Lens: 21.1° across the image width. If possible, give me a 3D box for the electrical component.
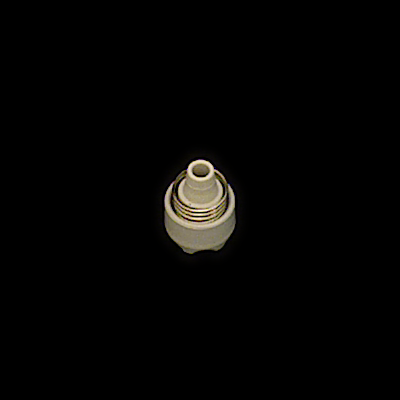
[{"bbox_3d":[0.000,0.000,0.635,0.043,0.043,0.062,0,-36,-1],"label":"electrical component"}]
